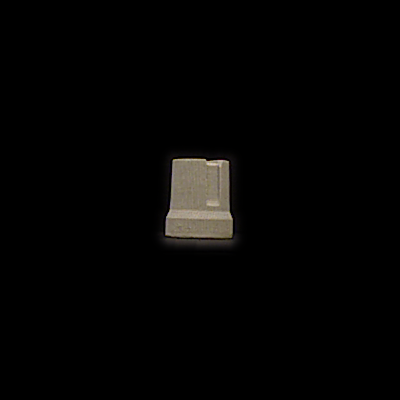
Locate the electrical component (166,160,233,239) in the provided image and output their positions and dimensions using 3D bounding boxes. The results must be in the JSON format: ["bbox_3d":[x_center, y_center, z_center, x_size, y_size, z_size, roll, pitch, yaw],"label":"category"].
[{"bbox_3d":[0.000,0.000,0.651,0.040,0.046,0.040,2,1,0],"label":"electrical component"}]
